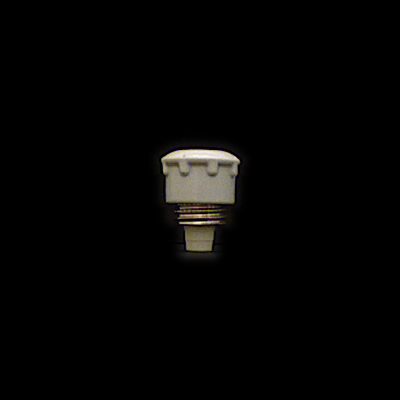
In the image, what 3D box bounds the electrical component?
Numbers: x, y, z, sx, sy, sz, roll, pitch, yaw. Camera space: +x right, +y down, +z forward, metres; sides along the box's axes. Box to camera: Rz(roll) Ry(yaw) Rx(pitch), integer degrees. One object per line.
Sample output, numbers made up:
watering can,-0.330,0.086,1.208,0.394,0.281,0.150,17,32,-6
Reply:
electrical component,0.000,0.000,0.654,0.048,0.062,0.048,1,1,0
